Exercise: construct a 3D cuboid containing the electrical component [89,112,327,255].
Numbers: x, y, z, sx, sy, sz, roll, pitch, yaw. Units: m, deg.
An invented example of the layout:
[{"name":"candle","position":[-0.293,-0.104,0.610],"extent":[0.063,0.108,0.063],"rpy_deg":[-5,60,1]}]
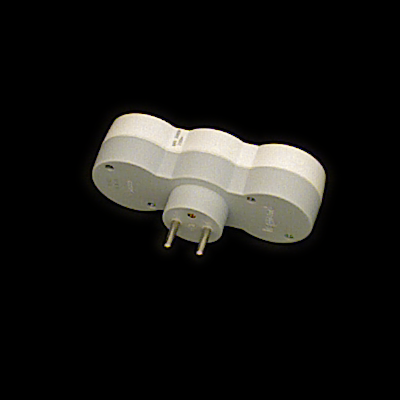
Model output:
[{"name":"electrical component","position":[0.000,0.000,0.637],"extent":[0.137,0.074,0.052],"rpy_deg":[13,-34,9]}]
